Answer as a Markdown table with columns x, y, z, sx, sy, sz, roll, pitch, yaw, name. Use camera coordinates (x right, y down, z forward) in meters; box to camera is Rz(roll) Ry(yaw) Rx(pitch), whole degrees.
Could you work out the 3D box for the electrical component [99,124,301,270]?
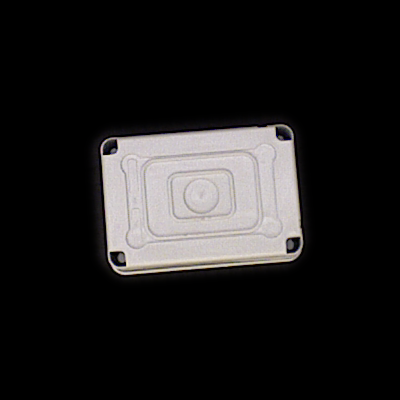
| x | y | z | sx | sy | sz | roll | pitch | yaw | name |
| --- | --- | --- | --- | --- | --- | --- | --- | --- | --- |
| 0.000 | 0.000 | 0.629 | 0.113 | 0.078 | 0.057 | -4 | -6 | 0 | electrical component |
